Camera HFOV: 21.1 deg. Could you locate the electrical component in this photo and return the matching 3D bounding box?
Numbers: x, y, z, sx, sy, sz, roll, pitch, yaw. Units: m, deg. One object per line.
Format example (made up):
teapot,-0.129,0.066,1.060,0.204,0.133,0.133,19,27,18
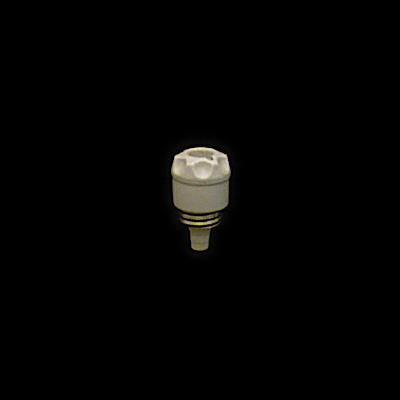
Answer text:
electrical component,0.000,0.000,0.643,0.035,0.062,0.035,1,22,0
